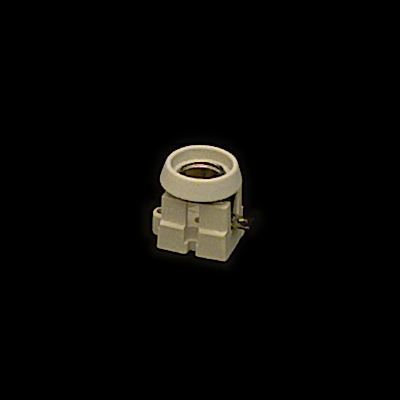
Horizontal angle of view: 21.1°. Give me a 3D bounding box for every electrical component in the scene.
[{"bbox_3d":[0.000,0.000,0.643,0.066,0.056,0.048,10,35,15],"label":"electrical component"}]
